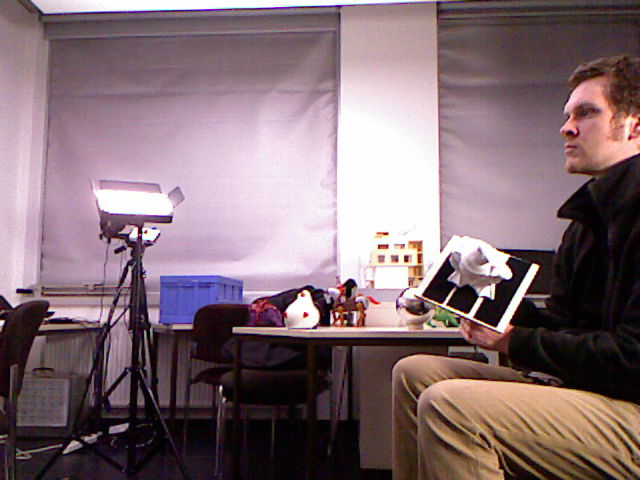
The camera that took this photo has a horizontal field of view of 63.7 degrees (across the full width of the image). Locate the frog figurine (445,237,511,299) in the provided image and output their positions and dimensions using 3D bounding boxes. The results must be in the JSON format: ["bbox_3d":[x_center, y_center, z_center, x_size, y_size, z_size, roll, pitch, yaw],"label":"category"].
[{"bbox_3d":[0.344,0.039,1.113,0.124,0.156,0.140,-34,53,-20],"label":"frog figurine"}]
